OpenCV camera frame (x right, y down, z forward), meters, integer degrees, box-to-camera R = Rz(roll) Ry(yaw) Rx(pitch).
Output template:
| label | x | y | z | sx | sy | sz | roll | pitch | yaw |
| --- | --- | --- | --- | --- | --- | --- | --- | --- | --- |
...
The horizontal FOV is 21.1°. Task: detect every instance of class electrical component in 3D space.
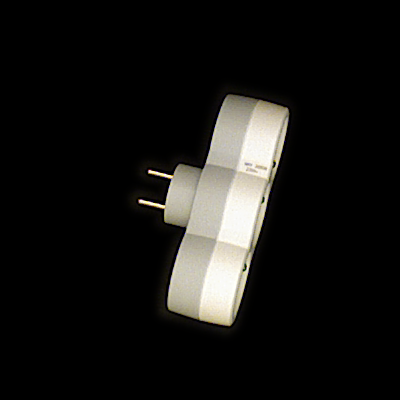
| label | x | y | z | sx | sy | sz | roll | pitch | yaw |
| --- | --- | --- | --- | --- | --- | --- | --- | --- | --- |
| electrical component | 0.000 | 0.000 | 0.638 | 0.073 | 0.139 | 0.052 | 15 | -16 | 6 |
